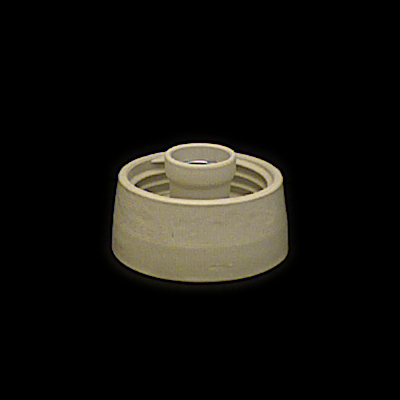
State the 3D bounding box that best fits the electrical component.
[{"bbox_3d":[0.000,0.000,0.647,0.108,0.061,0.106,1,21,0],"label":"electrical component"}]
